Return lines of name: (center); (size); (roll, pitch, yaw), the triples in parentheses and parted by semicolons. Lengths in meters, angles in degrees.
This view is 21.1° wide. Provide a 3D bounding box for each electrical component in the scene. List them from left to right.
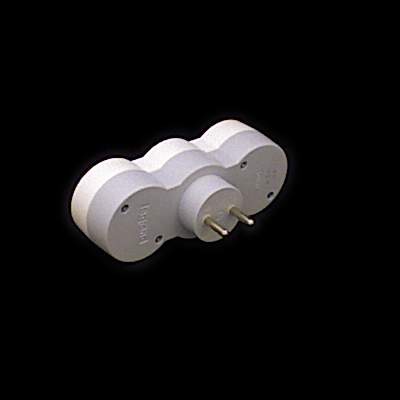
electrical component: (0.000, 0.000, 0.639); (0.138, 0.053, 0.073); (-21, 40, -33)
